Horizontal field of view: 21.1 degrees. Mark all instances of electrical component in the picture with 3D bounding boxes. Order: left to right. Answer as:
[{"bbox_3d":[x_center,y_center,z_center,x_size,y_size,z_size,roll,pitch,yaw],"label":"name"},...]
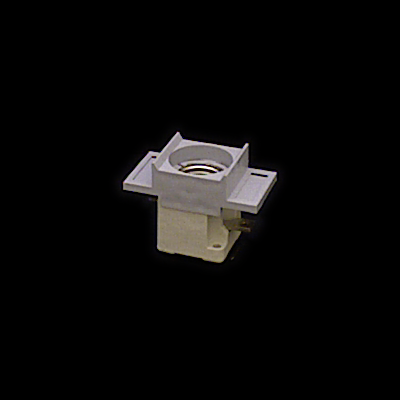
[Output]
[{"bbox_3d":[0.000,0.000,0.633,0.081,0.064,0.042,11,32,17],"label":"electrical component"}]
